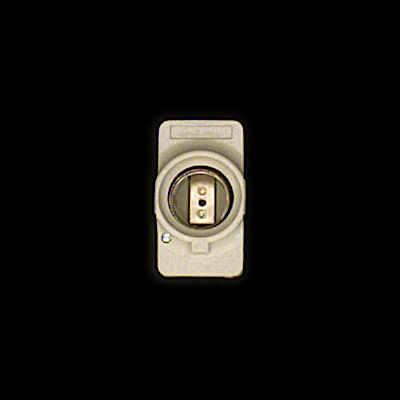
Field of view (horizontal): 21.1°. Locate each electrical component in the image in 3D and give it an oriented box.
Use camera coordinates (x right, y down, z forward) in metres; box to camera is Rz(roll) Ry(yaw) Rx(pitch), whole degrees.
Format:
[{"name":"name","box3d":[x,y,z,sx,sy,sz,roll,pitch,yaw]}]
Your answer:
[{"name":"electrical component","box3d":[0.000,0.000,0.637,0.050,0.090,0.055,0,-6,1]}]
